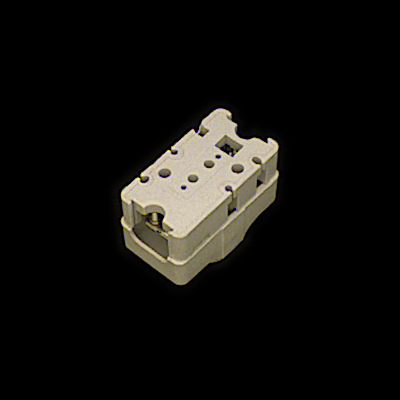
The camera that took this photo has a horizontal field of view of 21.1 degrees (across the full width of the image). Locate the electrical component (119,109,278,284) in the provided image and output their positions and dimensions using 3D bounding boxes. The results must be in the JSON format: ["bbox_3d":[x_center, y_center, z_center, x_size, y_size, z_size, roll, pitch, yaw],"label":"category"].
[{"bbox_3d":[0.000,0.000,0.637,0.050,0.056,0.090,34,60,24],"label":"electrical component"}]
